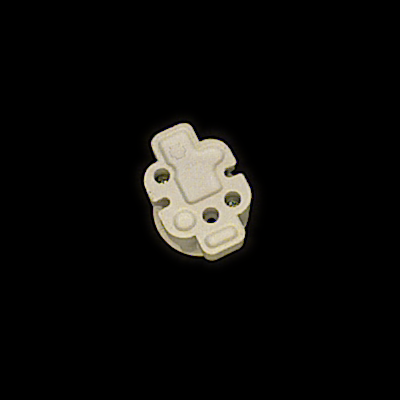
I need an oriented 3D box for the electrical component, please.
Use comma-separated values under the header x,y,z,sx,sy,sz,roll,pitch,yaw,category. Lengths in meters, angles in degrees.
x,y,z,sx,sy,sz,roll,pitch,yaw,category
0.000,0.000,0.636,0.058,0.078,0.056,-26,-16,-6,electrical component
